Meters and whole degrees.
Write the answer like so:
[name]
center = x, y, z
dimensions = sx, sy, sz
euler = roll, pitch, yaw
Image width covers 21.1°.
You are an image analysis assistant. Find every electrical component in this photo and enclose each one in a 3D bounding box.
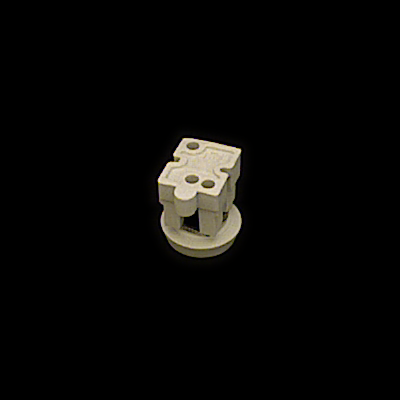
[electrical component]
center = 0.000, 0.000, 0.639
dimensions = 0.048, 0.056, 0.066
euler = 13, 43, 15
